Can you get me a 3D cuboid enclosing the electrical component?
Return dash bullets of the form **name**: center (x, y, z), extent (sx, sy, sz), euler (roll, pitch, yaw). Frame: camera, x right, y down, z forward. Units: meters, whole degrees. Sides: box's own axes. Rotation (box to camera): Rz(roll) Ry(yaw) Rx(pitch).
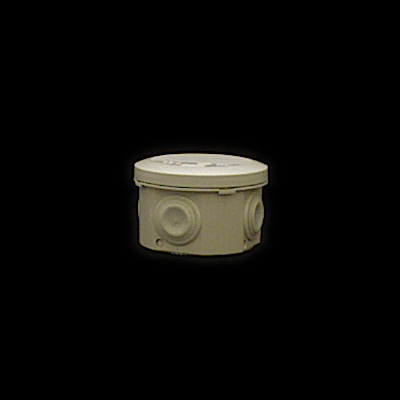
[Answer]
- **electrical component**: center (0.000, 0.000, 0.645), extent (0.080, 0.051, 0.079), euler (1, 10, 0)
